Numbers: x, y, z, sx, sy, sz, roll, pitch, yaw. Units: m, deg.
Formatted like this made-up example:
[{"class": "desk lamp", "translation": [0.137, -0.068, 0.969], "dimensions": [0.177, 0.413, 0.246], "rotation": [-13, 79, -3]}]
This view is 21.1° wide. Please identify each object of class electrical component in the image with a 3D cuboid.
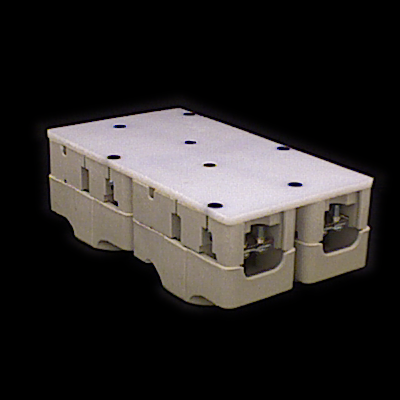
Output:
[{"class": "electrical component", "translation": [0.000, 0.000, 0.638], "dimensions": [0.105, 0.061, 0.184], "rotation": [-14, 26, -35]}]
